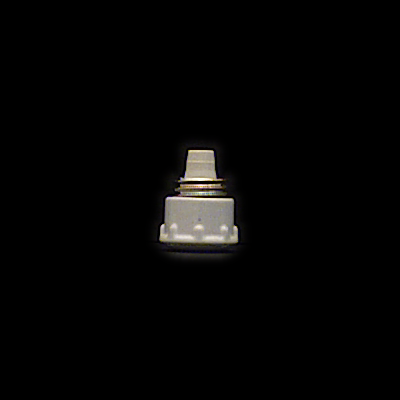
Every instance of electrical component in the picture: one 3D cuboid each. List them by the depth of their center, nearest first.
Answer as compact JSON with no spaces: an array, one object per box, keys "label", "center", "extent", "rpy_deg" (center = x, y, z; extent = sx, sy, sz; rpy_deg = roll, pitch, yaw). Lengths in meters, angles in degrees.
[{"label":"electrical component","center":[0.000,0.000,0.655],"extent":[0.048,0.062,0.048],"rpy_deg":[1,3,0]}]
